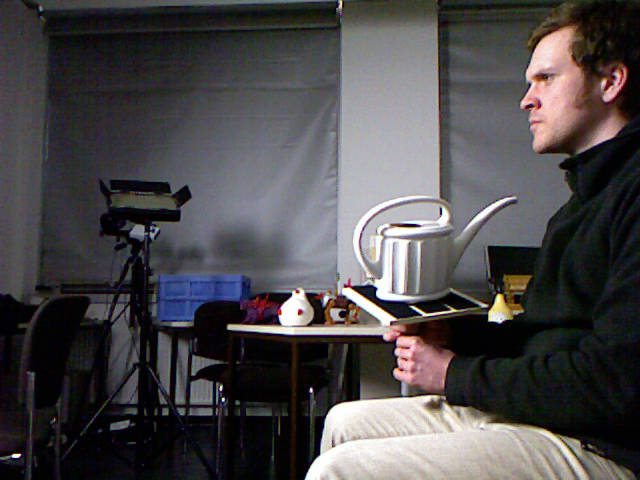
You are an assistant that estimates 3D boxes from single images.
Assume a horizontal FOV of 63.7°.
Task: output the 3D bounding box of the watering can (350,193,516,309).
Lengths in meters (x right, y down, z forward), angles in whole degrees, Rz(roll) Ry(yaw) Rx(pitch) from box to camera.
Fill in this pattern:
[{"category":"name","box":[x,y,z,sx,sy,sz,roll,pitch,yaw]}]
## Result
[{"category":"watering can","box":[0.221,0.019,0.986,0.349,0.222,0.105,-4,17,-18]}]
